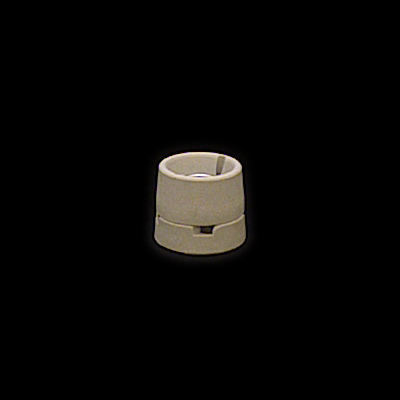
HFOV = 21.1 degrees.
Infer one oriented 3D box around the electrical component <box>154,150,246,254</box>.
[{"bbox_3d":[0.000,0.000,0.640,0.055,0.047,0.055,0,22,0],"label":"electrical component"}]
